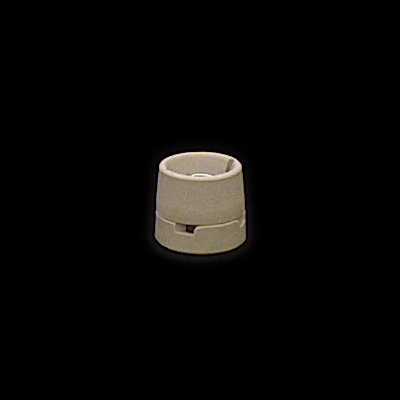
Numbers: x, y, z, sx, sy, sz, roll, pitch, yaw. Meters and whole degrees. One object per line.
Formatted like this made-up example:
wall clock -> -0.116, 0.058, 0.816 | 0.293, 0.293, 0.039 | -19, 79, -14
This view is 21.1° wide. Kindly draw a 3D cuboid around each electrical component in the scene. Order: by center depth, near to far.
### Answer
electrical component -> 0.000, 0.000, 0.641 | 0.055, 0.047, 0.055 | 0, 21, 0
